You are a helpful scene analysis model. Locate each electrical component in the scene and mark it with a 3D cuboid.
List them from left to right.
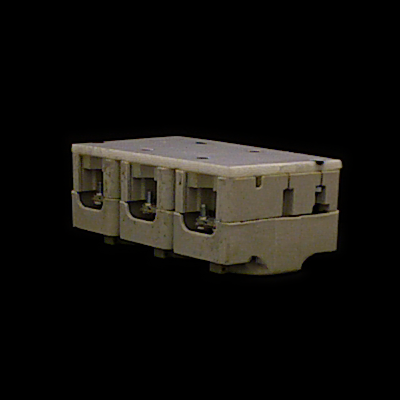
[{"bbox_3d":[0.000,0.000,0.651,0.089,0.062,0.148,-7,12,-40],"label":"electrical component"}]
